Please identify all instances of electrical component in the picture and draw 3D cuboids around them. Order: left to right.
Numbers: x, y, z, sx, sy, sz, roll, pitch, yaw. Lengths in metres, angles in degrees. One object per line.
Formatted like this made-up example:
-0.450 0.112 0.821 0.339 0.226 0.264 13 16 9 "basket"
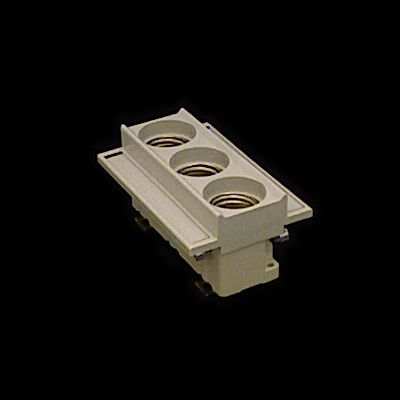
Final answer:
0.000 0.000 0.645 0.079 0.064 0.119 -17 36 -24 "electrical component"
